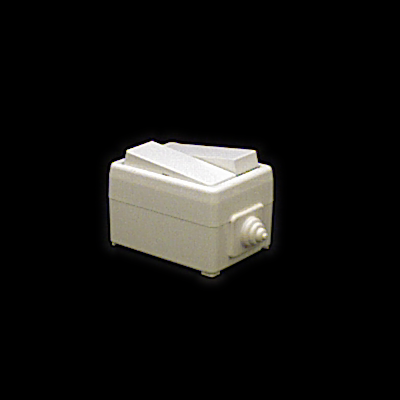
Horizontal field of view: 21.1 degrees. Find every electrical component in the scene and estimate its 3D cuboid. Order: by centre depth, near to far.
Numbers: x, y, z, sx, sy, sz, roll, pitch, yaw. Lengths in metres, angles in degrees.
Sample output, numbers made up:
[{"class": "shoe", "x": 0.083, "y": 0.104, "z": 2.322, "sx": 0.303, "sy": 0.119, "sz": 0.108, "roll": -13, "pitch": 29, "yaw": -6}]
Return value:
[{"class": "electrical component", "x": 0.000, "y": 0.000, "z": 0.638, "sx": 0.096, "sy": 0.061, "sz": 0.061, "roll": 16, "pitch": 25, "yaw": 34}]
